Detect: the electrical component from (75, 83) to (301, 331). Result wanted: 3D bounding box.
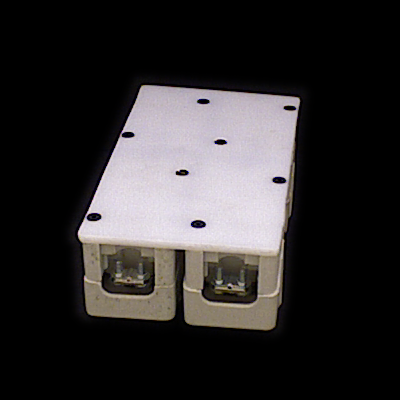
[{"bbox_3d":[0.000,0.000,0.633,0.105,0.061,0.184,5,31,6],"label":"electrical component"}]
